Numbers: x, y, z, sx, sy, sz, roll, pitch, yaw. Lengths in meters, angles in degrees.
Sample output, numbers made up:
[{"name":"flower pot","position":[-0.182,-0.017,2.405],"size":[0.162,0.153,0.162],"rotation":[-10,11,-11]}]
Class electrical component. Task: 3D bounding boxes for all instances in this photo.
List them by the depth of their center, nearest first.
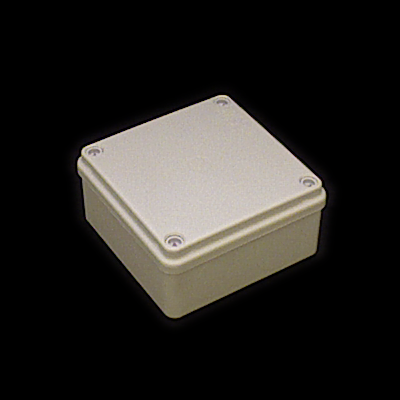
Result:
[{"name":"electrical component","position":[0.000,0.000,0.631],"size":[0.109,0.056,0.108],"rotation":[-23,47,-24]}]
